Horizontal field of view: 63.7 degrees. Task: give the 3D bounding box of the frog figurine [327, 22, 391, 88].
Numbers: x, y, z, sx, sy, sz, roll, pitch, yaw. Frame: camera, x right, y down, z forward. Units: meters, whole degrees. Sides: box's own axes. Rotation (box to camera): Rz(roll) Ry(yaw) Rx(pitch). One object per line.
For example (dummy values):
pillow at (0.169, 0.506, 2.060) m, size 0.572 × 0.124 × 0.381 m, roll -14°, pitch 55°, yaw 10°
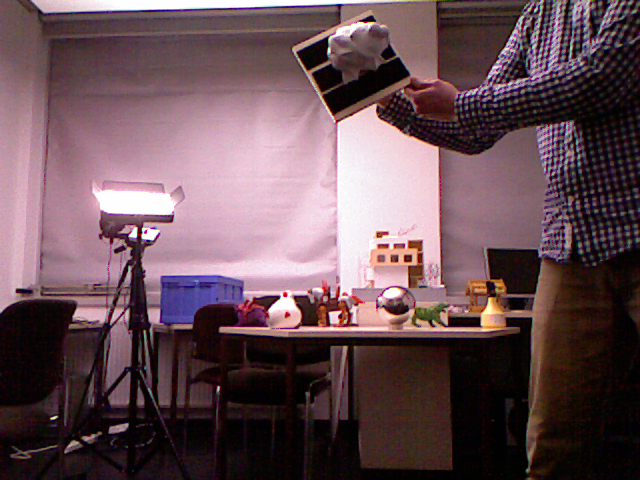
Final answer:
frog figurine at (0.084, -0.418, 1.101) m, size 0.138 × 0.125 × 0.157 m, roll -8°, pitch -19°, yaw -3°
